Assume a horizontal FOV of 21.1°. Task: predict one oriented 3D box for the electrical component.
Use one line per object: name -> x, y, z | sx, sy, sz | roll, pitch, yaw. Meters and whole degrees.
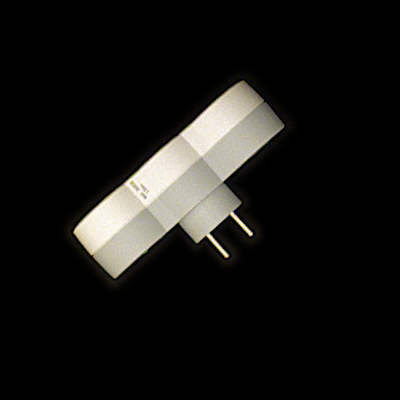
electrical component -> 0.000, 0.000, 0.639 | 0.138, 0.074, 0.052 | -42, -3, -4
